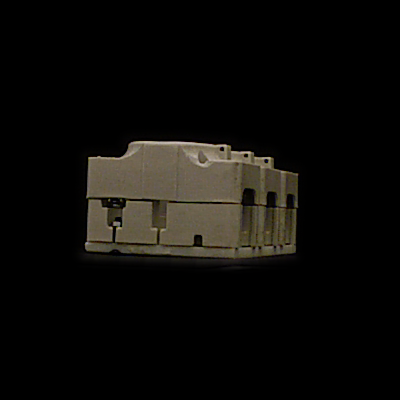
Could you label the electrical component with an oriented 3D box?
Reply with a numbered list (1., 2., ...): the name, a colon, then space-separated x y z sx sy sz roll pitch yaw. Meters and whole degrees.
1. electrical component: 0.000 0.000 0.657 0.089 0.062 0.150 2 0 17
